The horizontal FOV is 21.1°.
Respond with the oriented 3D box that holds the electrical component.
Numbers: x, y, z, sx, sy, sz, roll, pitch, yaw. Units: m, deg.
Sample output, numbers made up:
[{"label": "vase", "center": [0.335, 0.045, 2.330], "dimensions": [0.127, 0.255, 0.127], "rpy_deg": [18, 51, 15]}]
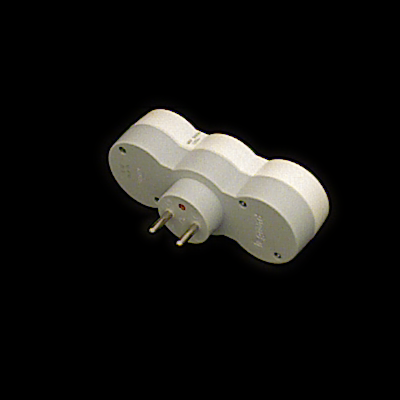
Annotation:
[{"label": "electrical component", "center": [0.000, 0.000, 0.639], "dimensions": [0.136, 0.052, 0.074], "rpy_deg": [25, 49, 23]}]
